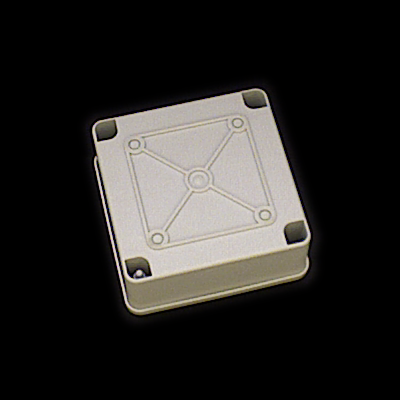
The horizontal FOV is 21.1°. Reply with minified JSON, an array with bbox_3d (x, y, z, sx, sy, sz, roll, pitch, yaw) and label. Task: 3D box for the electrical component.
[{"bbox_3d":[0.000,0.000,0.626,0.109,0.109,0.056,-12,-26,-6],"label":"electrical component"}]
